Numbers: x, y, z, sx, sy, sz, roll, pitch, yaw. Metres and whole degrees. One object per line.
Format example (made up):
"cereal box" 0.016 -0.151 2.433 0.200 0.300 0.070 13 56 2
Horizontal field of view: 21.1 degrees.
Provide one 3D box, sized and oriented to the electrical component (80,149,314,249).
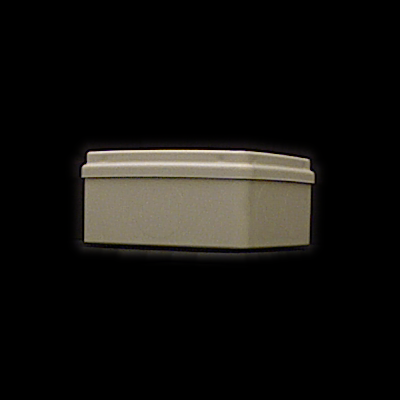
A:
"electrical component" 0.000 0.000 0.648 0.108 0.056 0.109 1 1 26
